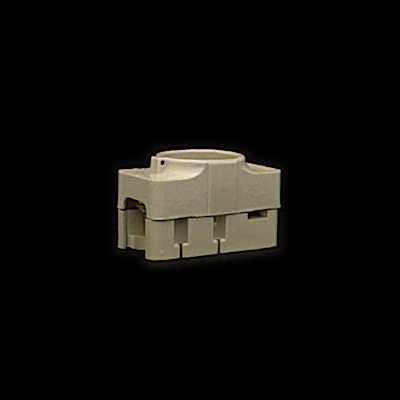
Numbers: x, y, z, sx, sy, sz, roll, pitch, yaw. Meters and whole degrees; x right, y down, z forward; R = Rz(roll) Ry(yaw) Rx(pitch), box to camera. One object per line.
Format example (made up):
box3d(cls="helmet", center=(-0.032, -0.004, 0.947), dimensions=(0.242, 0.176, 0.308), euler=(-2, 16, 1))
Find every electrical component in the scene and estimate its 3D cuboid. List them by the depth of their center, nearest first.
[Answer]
box3d(cls="electrical component", center=(0.000, 0.000, 0.652), dimensions=(0.090, 0.056, 0.049), euler=(-6, 13, -33))
